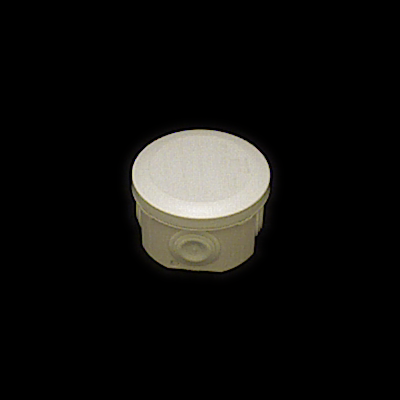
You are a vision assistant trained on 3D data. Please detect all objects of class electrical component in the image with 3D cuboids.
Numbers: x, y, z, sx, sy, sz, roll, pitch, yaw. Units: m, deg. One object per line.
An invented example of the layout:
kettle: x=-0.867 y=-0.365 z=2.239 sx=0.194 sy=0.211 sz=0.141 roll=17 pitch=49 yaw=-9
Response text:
electrical component: x=0.000 y=0.000 z=0.631 sx=0.080 sy=0.051 sz=0.080 roll=0 pitch=42 yaw=0
